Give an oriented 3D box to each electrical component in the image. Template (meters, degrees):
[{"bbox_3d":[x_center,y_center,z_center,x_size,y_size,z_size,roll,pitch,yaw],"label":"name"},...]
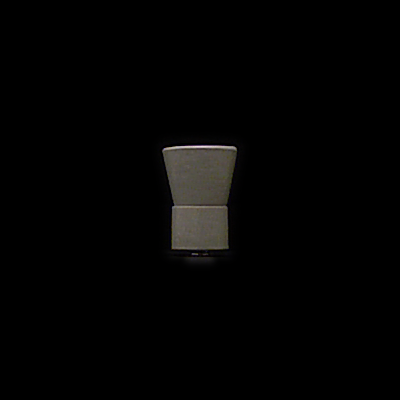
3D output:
[{"bbox_3d":[0.000,0.000,0.649,0.044,0.065,0.044,0,1,0],"label":"electrical component"}]
